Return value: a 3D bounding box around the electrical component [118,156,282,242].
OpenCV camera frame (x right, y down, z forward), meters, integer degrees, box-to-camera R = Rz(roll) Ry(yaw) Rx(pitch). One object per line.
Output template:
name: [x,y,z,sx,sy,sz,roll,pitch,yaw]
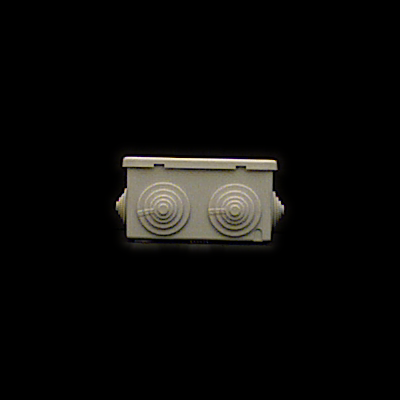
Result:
electrical component: [0.000,0.000,0.655,0.100,0.048,0.099,1,1,0]
